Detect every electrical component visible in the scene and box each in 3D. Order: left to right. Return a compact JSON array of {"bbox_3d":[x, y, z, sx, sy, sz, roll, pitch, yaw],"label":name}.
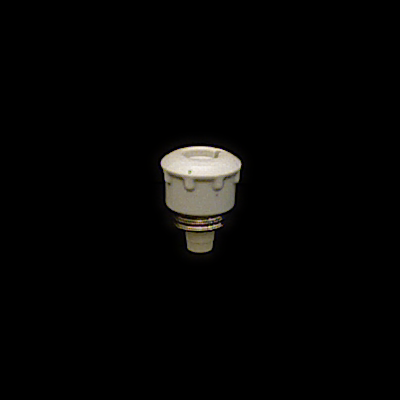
[{"bbox_3d":[0.000,0.000,0.648,0.048,0.063,0.047,1,22,0],"label":"electrical component"}]
